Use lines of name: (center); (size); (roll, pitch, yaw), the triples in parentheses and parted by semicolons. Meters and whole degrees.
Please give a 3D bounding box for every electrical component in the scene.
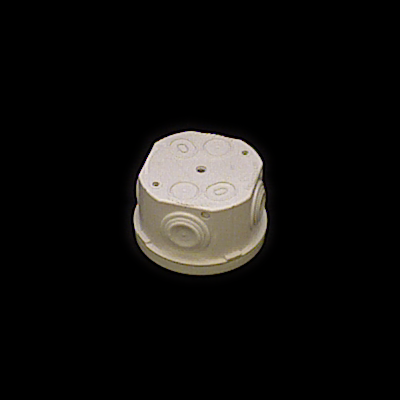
electrical component: (0.000, 0.000, 0.635); (0.080, 0.051, 0.079); (1, 42, -1)
